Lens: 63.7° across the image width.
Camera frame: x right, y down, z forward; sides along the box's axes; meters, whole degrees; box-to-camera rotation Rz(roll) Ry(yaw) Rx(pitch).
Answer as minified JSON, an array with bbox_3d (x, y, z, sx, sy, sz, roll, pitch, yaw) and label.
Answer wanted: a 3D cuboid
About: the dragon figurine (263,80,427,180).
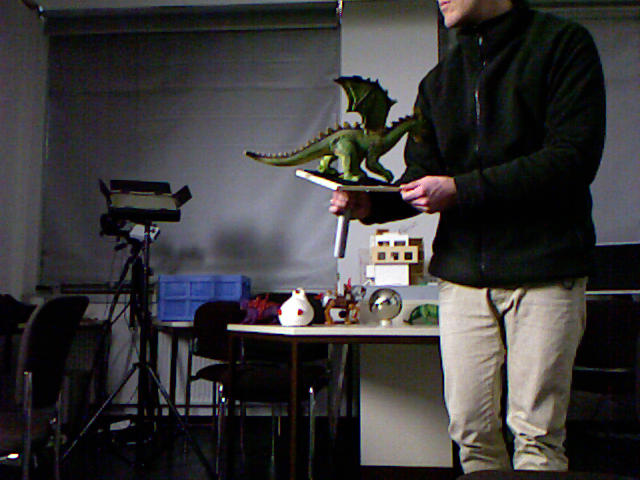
[{"bbox_3d":[0.078,-0.274,1.271,0.411,0.239,0.124,3,21,-18],"label":"dragon figurine"}]
